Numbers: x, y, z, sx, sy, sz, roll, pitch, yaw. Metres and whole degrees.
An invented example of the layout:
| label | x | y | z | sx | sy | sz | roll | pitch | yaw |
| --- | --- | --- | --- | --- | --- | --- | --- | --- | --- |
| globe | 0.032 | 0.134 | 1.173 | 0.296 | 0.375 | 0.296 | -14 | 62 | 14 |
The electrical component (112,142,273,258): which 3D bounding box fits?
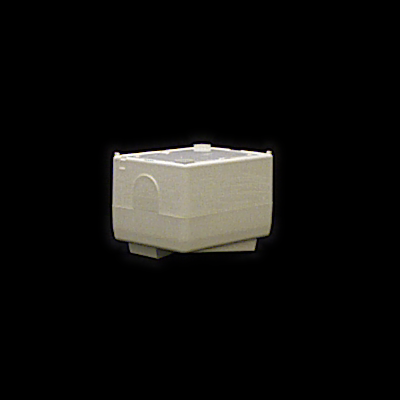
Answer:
| label | x | y | z | sx | sy | sz | roll | pitch | yaw |
| --- | --- | --- | --- | --- | --- | --- | --- | --- | --- |
| electrical component | 0.000 | 0.000 | 0.652 | 0.061 | 0.061 | 0.096 | 10 | 14 | 41 |
